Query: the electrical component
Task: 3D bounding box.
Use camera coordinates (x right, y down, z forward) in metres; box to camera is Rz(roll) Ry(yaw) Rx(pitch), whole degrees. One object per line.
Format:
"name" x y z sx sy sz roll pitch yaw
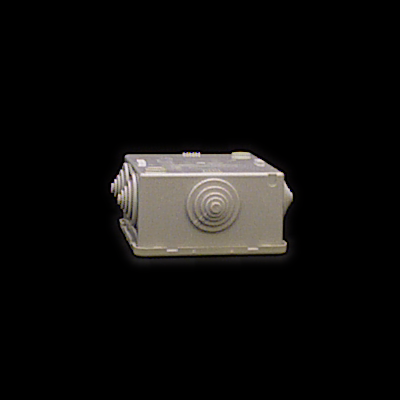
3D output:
"electrical component" 0.000 0.000 0.644 0.100 0.049 0.099 -1 11 -10
